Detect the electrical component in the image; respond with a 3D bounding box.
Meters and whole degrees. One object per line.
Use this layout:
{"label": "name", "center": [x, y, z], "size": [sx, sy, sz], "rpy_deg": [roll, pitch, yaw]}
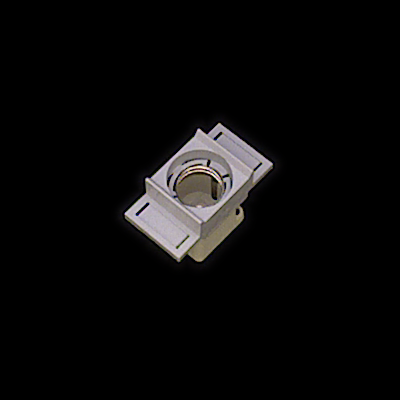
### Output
{"label": "electrical component", "center": [0.000, 0.000, 0.623], "size": [0.042, 0.081, 0.063], "rpy_deg": [39, -21, 17]}
